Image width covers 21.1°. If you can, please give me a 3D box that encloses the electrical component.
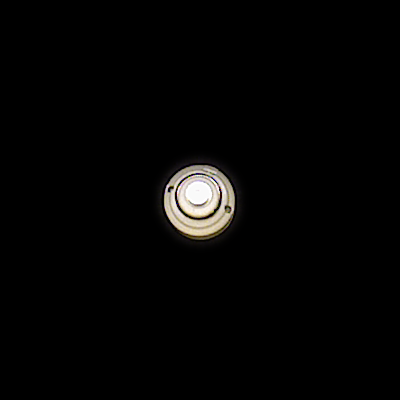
[{"bbox_3d":[0.000,0.000,0.618,0.040,0.040,0.078,0,-6,1],"label":"electrical component"}]
